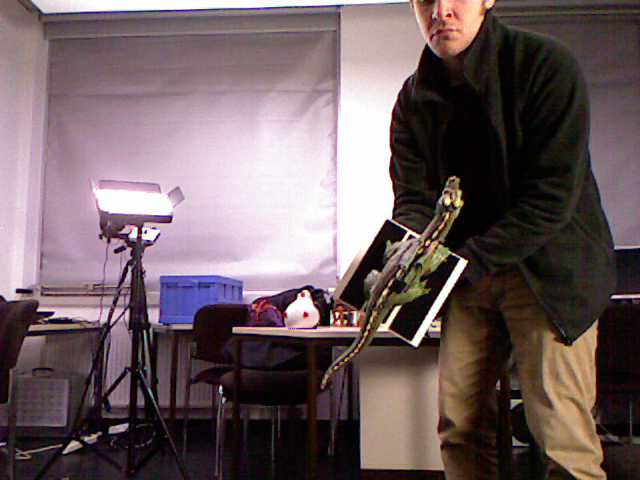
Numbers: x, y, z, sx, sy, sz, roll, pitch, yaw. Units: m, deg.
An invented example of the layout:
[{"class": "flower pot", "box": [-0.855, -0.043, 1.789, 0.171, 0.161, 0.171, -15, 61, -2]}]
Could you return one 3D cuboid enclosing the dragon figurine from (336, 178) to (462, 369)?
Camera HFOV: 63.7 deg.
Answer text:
[{"class": "dragon figurine", "box": [0.142, 0.073, 0.938, 0.123, 0.413, 0.241, 31, -6, 11]}]
